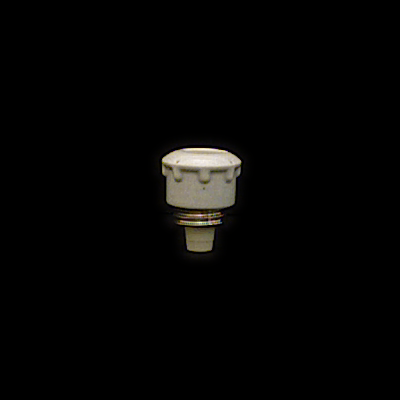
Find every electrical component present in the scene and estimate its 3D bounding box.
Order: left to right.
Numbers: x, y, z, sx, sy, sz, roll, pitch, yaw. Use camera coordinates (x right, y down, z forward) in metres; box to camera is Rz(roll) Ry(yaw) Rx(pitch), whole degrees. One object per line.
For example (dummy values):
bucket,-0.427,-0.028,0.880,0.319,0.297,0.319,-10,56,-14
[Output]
electrical component,0.000,0.000,0.654,0.048,0.062,0.048,1,11,0
